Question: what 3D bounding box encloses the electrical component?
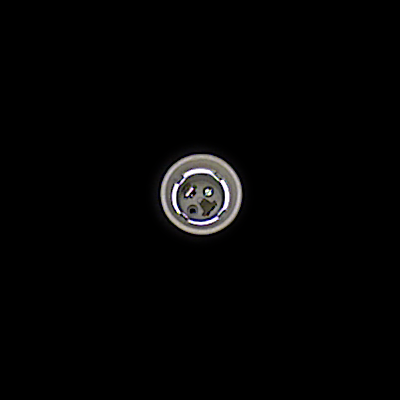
[{"bbox_3d":[0.000,0.000,0.625,0.044,0.044,0.065,0,-7,0],"label":"electrical component"}]
